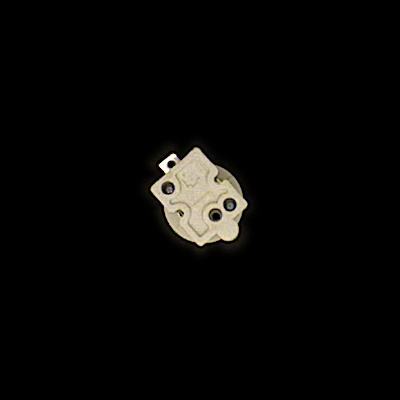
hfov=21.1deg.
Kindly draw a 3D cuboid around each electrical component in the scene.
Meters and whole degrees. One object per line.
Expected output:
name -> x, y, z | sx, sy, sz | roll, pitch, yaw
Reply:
electrical component -> 0.000, 0.000, 0.639 | 0.048, 0.066, 0.055 | -41, -6, -2
